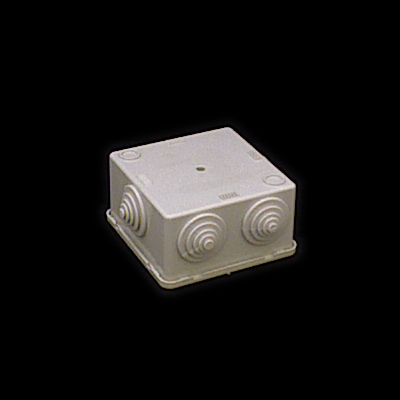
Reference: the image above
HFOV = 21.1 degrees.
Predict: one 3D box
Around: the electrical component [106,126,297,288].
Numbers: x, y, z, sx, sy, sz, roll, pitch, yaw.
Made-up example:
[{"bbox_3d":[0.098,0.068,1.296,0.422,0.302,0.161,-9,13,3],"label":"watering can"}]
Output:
[{"bbox_3d":[0.000,0.000,0.638,0.100,0.049,0.098,-14,35,-23],"label":"electrical component"}]
